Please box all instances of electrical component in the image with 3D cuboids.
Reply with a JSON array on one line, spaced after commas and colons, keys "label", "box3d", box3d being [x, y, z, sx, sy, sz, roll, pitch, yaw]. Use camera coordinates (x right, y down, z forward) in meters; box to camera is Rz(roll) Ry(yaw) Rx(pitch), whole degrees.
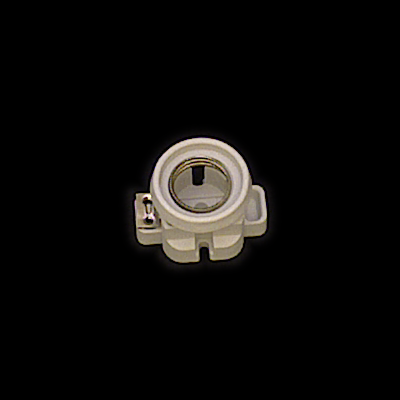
[{"label": "electrical component", "box3d": [0.000, 0.000, 0.628, 0.078, 0.058, 0.056, -4, -27, -2]}]
